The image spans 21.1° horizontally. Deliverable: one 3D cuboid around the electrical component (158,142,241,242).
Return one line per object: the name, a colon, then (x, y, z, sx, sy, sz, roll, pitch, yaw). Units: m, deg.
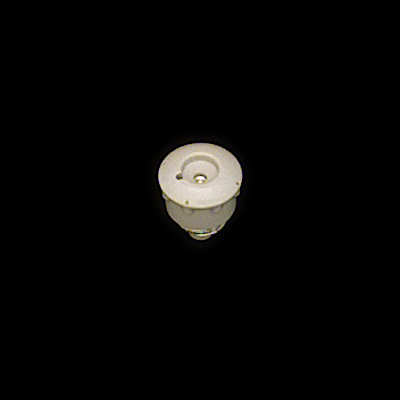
electrical component: (0.000, 0.000, 0.633, 0.048, 0.048, 0.062, 0, -37, 0)
